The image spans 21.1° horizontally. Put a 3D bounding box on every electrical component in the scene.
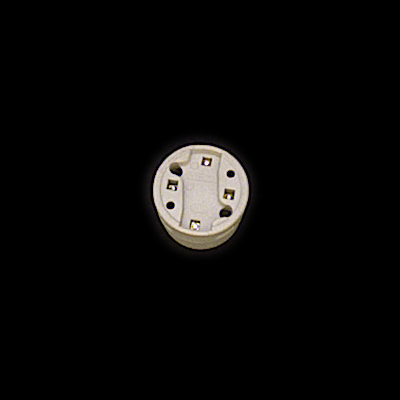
[{"bbox_3d":[0.000,0.000,0.635,0.055,0.056,0.047,0,-17,0],"label":"electrical component"}]
